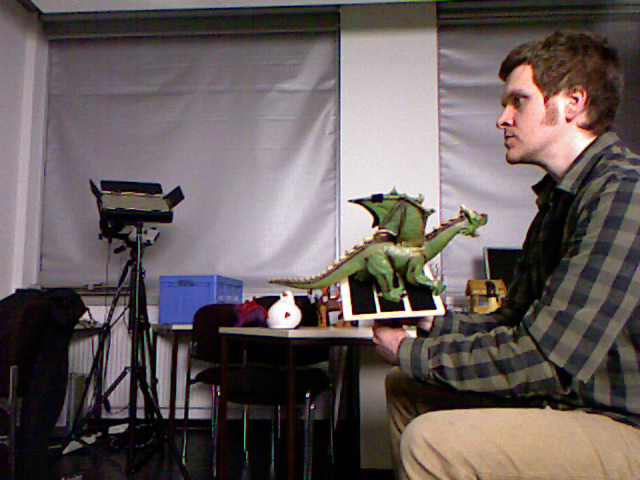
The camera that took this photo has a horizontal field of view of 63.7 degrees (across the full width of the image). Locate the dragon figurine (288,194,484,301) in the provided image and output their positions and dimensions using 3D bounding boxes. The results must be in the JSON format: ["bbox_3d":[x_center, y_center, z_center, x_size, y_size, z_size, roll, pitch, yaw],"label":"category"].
[{"bbox_3d":[0.134,0.004,1.045,0.411,0.238,0.125,-6,36,-4],"label":"dragon figurine"}]
